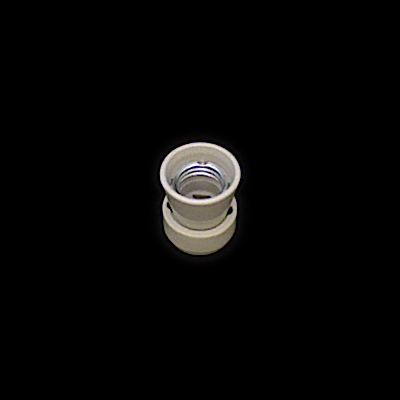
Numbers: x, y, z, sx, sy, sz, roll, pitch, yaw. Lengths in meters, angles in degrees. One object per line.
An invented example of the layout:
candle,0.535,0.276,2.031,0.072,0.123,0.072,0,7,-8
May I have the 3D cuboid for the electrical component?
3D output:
electrical component,0.000,0.000,0.629,0.045,0.044,0.055,0,-37,0
